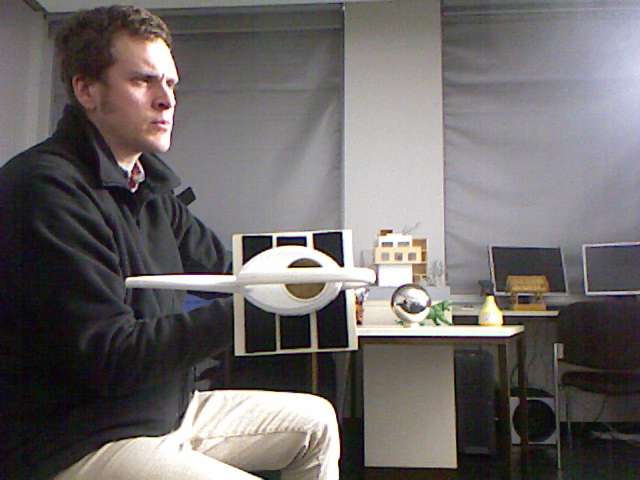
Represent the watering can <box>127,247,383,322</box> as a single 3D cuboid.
[{"bbox_3d":[-0.083,0.069,0.776,0.349,0.105,0.223,-2,-12,0],"label":"watering can"}]
